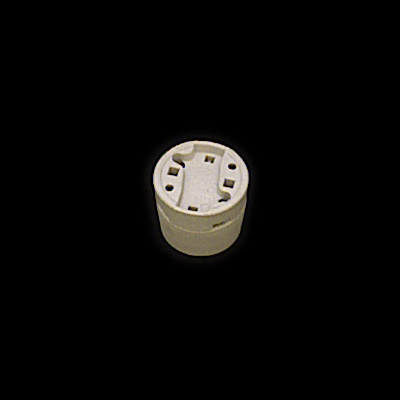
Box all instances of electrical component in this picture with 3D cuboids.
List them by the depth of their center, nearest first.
[{"bbox_3d":[0.000,0.000,0.634,0.055,0.055,0.047,0,-38,0],"label":"electrical component"}]
